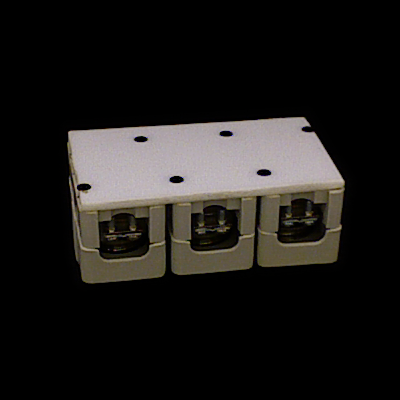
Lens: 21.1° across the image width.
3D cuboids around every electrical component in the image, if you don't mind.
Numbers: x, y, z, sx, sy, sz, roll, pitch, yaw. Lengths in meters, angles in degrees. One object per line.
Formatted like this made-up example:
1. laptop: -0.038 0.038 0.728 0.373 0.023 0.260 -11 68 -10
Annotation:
1. electrical component: 0.000 0.000 0.643 0.150 0.063 0.087 -4 32 -9
